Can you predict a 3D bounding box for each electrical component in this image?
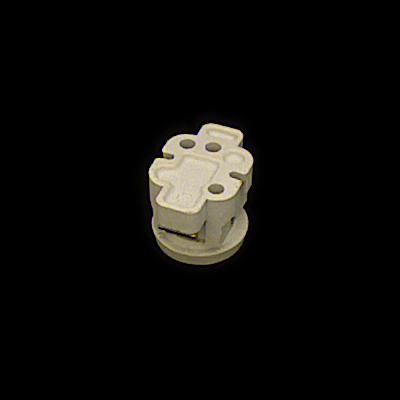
[{"bbox_3d":[0.000,0.000,0.638,0.057,0.057,0.078,15,46,15],"label":"electrical component"}]
